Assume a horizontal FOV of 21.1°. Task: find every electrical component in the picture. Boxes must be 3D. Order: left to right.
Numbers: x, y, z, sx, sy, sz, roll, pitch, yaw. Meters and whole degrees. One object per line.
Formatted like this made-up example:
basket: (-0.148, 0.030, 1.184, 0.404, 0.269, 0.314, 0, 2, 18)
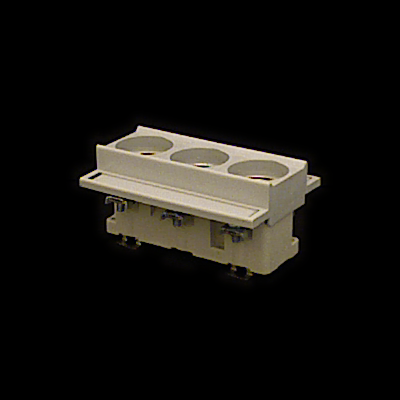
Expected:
electrical component: (0.000, 0.000, 0.650, 0.120, 0.064, 0.078, 14, 27, 30)
